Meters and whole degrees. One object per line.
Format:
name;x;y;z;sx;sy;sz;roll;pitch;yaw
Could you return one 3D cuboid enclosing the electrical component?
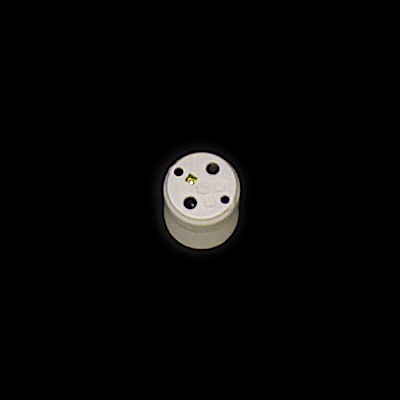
electrical component;0.000;0.000;0.629;0.045;0.045;0.055;0;-17;0
